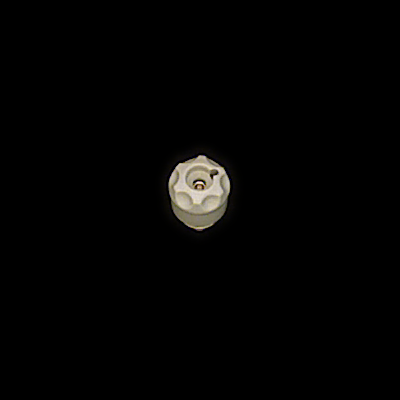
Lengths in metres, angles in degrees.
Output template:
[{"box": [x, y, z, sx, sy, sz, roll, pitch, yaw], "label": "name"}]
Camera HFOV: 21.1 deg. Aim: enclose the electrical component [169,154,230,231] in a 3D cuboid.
[{"box": [0.000, 0.000, 0.633, 0.035, 0.035, 0.061, 0, -26, 0], "label": "electrical component"}]
